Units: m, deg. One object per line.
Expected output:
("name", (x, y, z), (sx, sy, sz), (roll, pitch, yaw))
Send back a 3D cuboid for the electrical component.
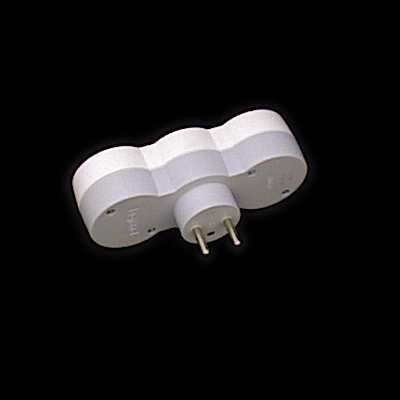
("electrical component", (0.000, 0.000, 0.633), (0.138, 0.073, 0.052), (-16, -34, -13))
